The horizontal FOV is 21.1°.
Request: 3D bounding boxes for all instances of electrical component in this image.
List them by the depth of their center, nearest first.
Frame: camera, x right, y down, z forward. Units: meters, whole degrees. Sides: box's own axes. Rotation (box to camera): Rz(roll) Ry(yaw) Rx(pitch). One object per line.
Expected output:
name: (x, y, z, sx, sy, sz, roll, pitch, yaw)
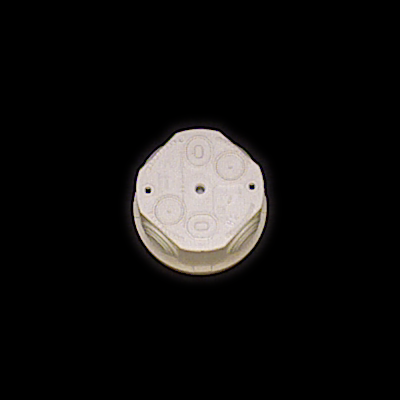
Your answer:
electrical component: (0.000, 0.000, 0.632, 0.080, 0.080, 0.050, 0, -17, -1)
